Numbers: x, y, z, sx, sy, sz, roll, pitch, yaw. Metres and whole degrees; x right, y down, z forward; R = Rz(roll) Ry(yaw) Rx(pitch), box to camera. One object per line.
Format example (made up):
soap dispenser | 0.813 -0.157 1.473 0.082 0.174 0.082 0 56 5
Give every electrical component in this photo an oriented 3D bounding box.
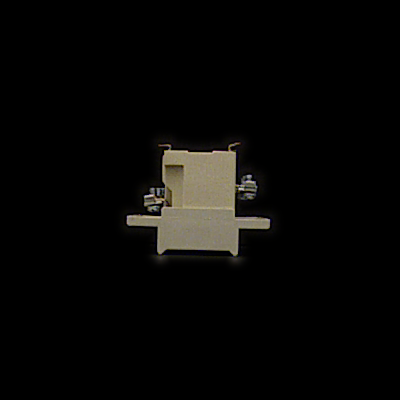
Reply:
electrical component | 0.000 0.000 0.656 0.079 0.063 0.121 1 0 0
